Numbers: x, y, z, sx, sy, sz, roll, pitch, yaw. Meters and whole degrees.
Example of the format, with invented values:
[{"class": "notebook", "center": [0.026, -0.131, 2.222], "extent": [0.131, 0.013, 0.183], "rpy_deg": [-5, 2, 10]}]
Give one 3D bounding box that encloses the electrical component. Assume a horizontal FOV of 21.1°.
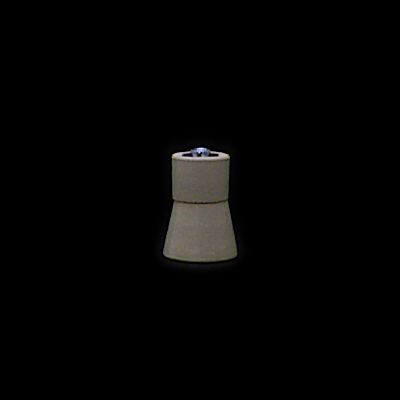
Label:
[{"class": "electrical component", "center": [0.000, 0.000, 0.644], "extent": [0.044, 0.066, 0.044], "rpy_deg": [0, 11, 0]}]
